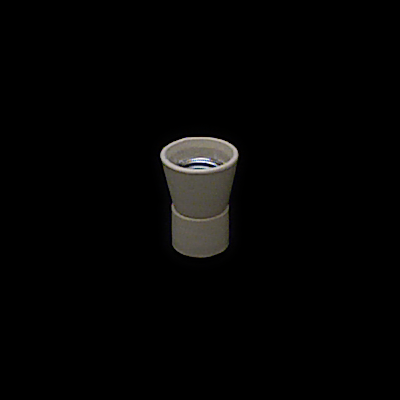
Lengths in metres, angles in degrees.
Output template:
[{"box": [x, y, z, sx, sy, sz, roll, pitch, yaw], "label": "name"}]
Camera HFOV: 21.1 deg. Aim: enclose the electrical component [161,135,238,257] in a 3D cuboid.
[{"box": [0.000, 0.000, 0.634, 0.044, 0.066, 0.044, 0, 31, 0], "label": "electrical component"}]
